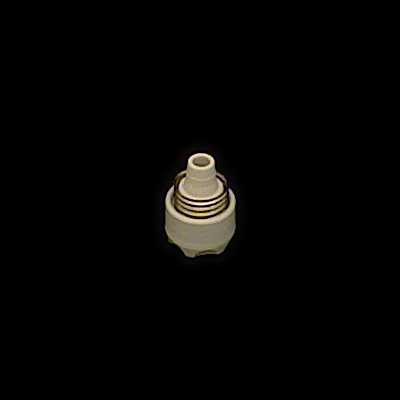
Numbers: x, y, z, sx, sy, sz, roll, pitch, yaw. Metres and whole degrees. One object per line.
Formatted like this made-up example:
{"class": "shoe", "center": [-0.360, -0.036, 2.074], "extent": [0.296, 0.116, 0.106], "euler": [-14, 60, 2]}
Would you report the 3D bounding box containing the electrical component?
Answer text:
{"class": "electrical component", "center": [0.000, 0.000, 0.638], "extent": [0.043, 0.062, 0.043], "euler": [1, 41, 0]}
